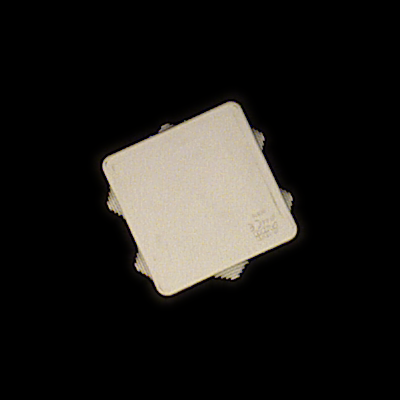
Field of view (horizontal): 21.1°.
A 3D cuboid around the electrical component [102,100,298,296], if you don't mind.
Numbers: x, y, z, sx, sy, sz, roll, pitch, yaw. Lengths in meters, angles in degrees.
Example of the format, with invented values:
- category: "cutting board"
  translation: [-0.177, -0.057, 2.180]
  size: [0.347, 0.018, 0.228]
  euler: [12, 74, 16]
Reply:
- category: "electrical component"
  translation: [0.000, 0.000, 0.642]
  size: [0.100, 0.100, 0.048]
  euler: [-24, -6, -3]
